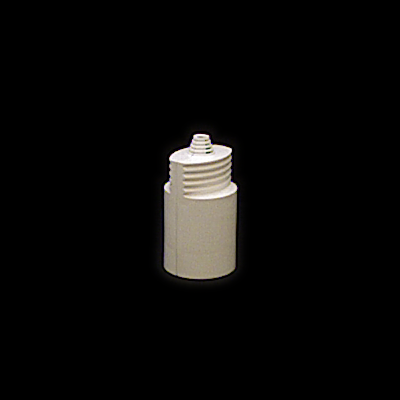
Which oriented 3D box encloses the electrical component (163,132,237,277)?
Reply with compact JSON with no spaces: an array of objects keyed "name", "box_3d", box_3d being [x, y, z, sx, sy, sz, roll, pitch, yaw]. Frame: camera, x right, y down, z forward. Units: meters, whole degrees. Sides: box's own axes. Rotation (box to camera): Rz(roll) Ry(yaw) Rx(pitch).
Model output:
[{"name":"electrical component","box_3d":[0.000,0.000,0.636,0.043,0.082,0.042,1,21,0]}]
